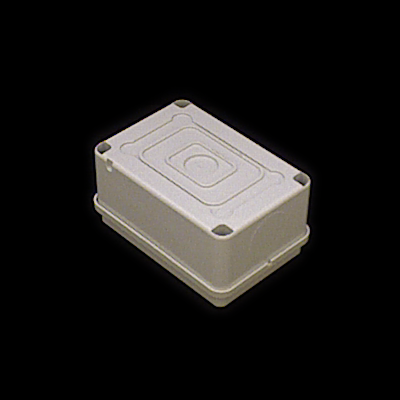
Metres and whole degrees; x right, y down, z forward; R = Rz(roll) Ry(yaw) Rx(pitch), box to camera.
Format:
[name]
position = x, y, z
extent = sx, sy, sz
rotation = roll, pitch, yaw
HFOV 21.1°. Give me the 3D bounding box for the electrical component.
[electrical component]
position = 0.000, 0.000, 0.632
extent = 0.078, 0.057, 0.112
rotation = -33, 52, -32
